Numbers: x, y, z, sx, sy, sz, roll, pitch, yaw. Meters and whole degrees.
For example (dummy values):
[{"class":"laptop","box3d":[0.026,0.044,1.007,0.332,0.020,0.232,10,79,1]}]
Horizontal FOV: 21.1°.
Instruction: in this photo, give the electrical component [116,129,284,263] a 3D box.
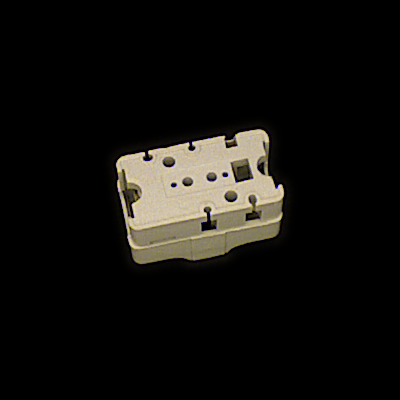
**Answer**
[{"class":"electrical component","box3d":[0.000,0.000,0.636,0.090,0.050,0.055,-11,-27,-6]}]
